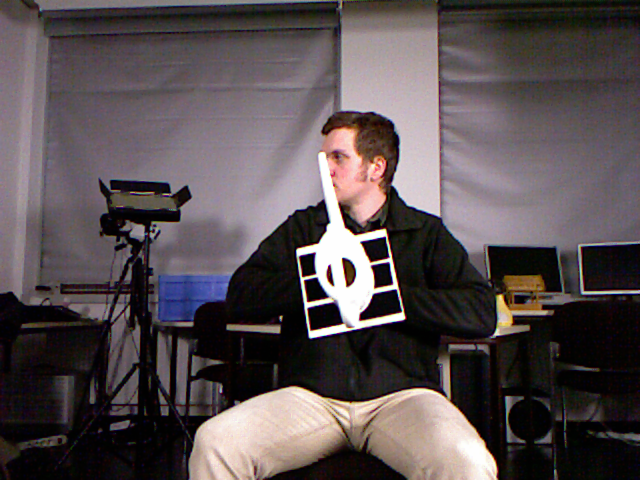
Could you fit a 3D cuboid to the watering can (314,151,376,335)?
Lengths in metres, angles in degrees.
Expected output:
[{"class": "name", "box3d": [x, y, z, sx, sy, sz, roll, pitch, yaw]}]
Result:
[{"class": "watering can", "box3d": [0.045, 0.014, 1.024, 0.104, 0.354, 0.222, -10, -17, 10]}]
